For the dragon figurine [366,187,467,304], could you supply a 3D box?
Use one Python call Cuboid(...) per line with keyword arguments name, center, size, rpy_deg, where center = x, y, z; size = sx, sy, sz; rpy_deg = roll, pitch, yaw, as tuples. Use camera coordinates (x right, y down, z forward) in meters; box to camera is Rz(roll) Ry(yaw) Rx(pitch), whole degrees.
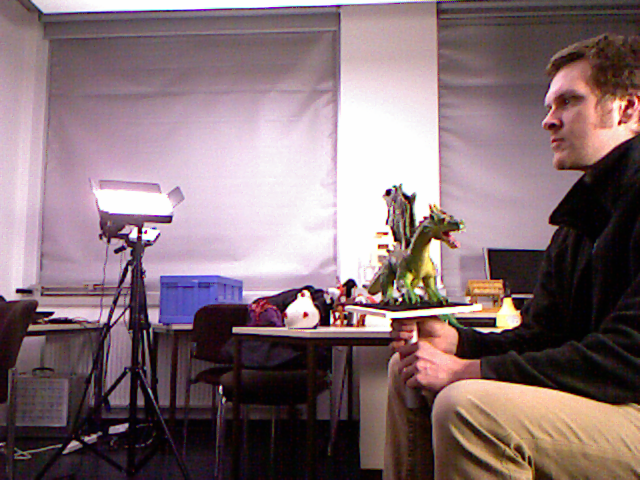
Cuboid(name="dragon figurine", center=(0.166, 0.010, 1.071), size=(0.122, 0.243, 0.409), rpy_deg=(-4, -1, -22))
